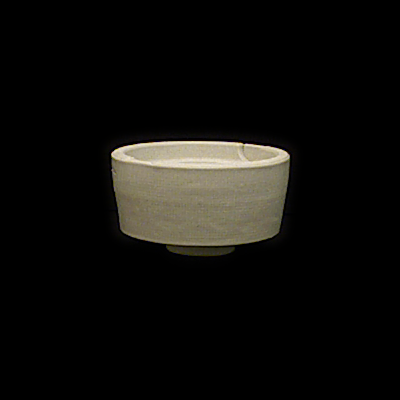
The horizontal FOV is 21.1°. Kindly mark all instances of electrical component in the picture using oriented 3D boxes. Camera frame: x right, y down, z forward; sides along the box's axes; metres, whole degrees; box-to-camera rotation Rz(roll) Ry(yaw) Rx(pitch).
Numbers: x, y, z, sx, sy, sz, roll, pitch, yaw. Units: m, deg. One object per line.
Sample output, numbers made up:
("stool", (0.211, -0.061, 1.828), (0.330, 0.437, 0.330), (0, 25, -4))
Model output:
("electrical component", (0.000, 0.000, 0.655), (0.108, 0.061, 0.107), (1, 11, 0))
